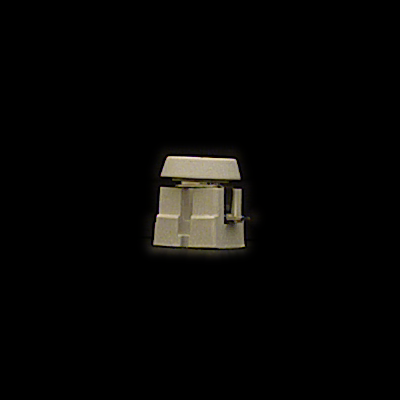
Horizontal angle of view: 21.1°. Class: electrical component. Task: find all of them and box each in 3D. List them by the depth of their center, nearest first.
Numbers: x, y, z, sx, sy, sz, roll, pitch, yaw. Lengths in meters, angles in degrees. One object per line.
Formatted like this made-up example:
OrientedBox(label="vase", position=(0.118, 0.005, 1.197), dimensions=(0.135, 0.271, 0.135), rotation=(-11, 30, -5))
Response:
OrientedBox(label="electrical component", position=(0.000, 0.000, 0.657), dimensions=(0.066, 0.055, 0.049), rotation=(2, 4, 30))
